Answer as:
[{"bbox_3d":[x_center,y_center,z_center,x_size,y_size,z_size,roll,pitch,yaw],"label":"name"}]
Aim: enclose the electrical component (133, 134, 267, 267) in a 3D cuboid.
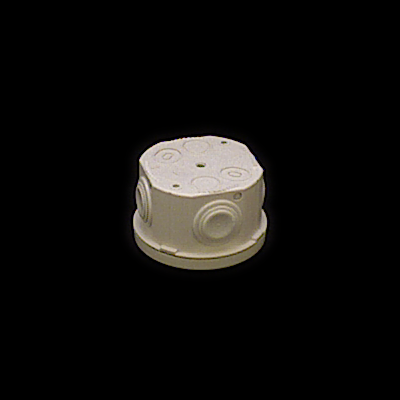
[{"bbox_3d":[0.000,0.000,0.636,0.080,0.051,0.079,1,32,0],"label":"electrical component"}]
